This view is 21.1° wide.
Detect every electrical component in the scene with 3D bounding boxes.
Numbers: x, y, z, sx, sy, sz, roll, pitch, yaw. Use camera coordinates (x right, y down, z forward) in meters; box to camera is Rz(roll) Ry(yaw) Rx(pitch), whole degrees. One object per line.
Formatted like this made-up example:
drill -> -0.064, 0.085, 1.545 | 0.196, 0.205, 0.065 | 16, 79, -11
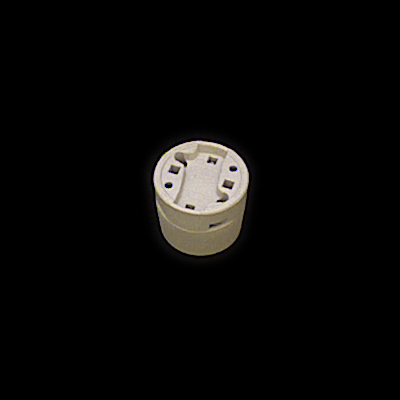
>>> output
electrical component -> 0.000, 0.000, 0.635 | 0.055, 0.055, 0.047 | 0, -38, -1
